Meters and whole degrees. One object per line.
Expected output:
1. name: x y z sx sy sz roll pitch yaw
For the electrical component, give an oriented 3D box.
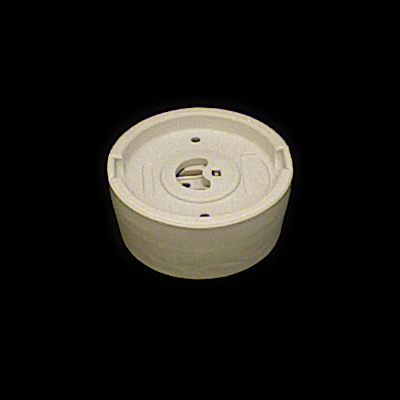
1. electrical component: 0.000 0.000 0.640 0.108 0.061 0.106 0 43 0
